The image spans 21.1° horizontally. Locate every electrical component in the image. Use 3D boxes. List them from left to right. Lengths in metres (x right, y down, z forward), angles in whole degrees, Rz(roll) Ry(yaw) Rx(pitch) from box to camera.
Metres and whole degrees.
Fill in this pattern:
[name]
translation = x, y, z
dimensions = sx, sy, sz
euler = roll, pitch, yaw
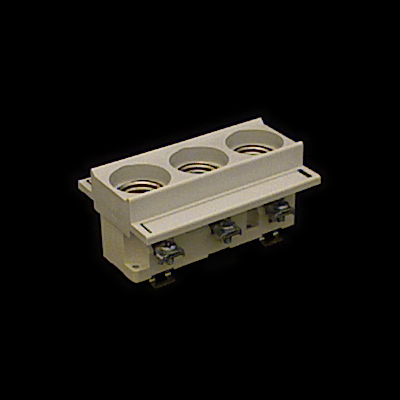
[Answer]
[electrical component]
translation = 0.000, 0.000, 0.646
dimensions = 0.121, 0.064, 0.077
euler = -19, 35, -28
